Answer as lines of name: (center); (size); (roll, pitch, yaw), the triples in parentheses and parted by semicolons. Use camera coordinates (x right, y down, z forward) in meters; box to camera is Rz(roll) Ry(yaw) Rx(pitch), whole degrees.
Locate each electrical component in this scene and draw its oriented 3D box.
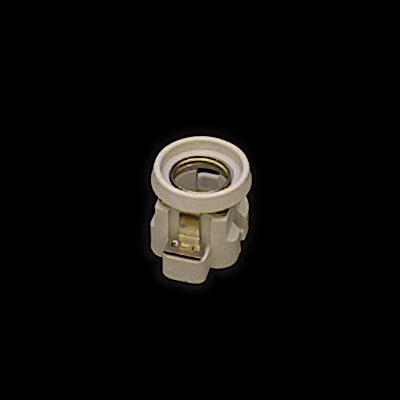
electrical component: (0.000, 0.000, 0.630); (0.058, 0.057, 0.078); (11, 43, 11)
